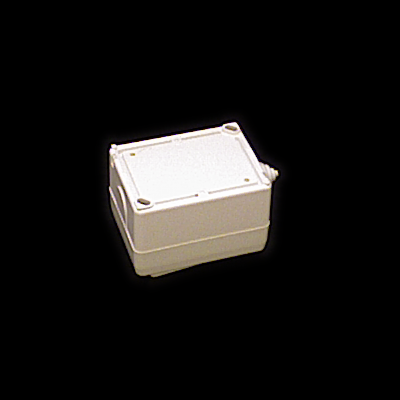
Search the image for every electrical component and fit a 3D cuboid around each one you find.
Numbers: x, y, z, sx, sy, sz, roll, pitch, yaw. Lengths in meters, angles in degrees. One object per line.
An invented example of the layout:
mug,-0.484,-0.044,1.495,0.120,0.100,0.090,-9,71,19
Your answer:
electrical component,0.000,0.000,0.630,0.096,0.061,0.061,-11,43,-14
